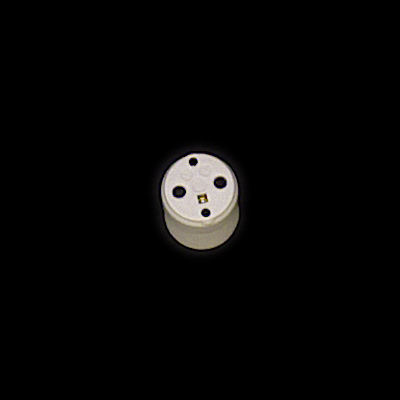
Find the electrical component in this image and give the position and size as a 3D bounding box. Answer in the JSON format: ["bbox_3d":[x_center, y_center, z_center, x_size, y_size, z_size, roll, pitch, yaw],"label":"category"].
[{"bbox_3d":[0.000,0.000,0.628,0.045,0.045,0.055,0,-17,1],"label":"electrical component"}]
